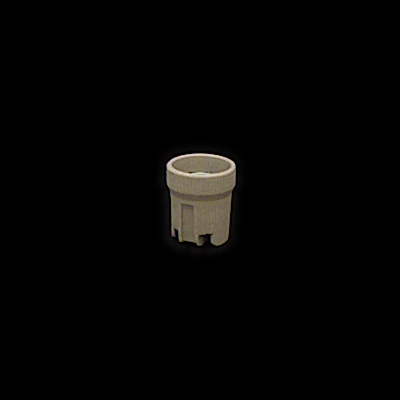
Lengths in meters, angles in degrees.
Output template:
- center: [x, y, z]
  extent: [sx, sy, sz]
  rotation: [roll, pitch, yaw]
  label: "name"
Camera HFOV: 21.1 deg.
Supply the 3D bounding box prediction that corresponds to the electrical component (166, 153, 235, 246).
- center: [0.000, 0.000, 0.638]
  extent: [0.040, 0.047, 0.039]
  rotation: [1, 21, 0]
  label: "electrical component"
